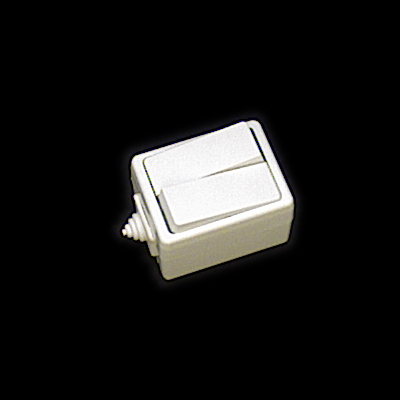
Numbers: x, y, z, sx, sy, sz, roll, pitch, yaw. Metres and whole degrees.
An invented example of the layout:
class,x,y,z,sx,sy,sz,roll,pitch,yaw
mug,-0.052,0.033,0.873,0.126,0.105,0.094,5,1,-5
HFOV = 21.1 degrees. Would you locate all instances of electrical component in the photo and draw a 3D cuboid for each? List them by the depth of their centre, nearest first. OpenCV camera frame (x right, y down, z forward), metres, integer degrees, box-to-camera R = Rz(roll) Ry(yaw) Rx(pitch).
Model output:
class,x,y,z,sx,sy,sz,roll,pitch,yaw
electrical component,0.000,0.000,0.626,0.096,0.062,0.061,-17,-26,-9
